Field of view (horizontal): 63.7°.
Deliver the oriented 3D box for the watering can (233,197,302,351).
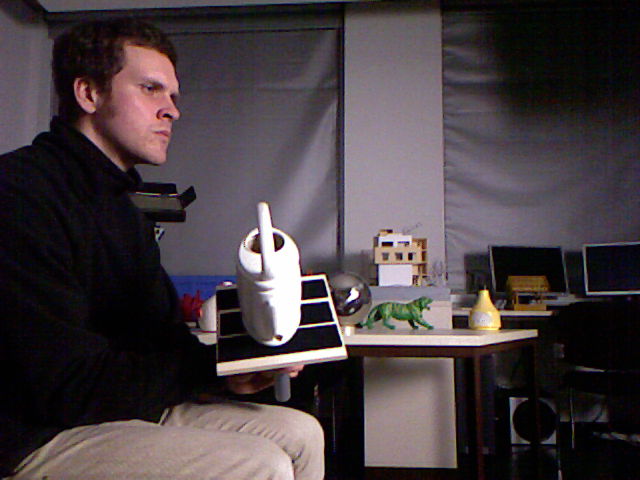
[{"bbox_3d":[-0.078,0.083,0.790,0.104,0.220,0.357,-6,37,-6],"label":"watering can"}]
